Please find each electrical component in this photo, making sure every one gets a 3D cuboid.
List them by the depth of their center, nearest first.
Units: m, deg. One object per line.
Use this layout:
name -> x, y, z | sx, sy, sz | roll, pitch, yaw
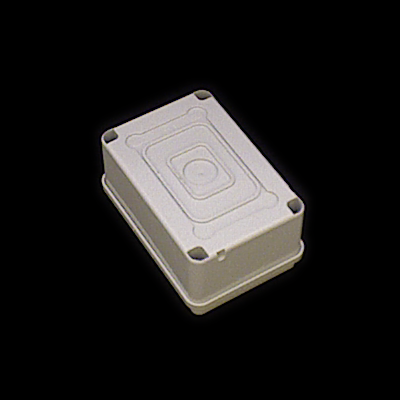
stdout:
electrical component -> 0.000, 0.000, 0.629 | 0.078, 0.112, 0.057 | -26, -34, -19
